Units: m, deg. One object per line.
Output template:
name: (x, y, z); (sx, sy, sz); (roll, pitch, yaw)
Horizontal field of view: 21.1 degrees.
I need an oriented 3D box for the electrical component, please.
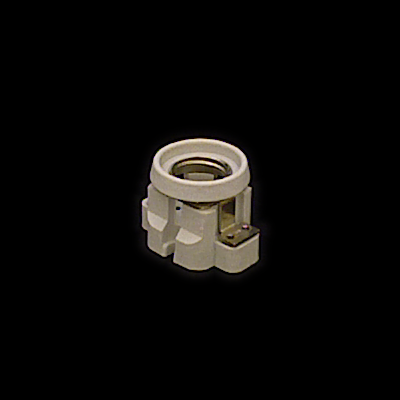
electrical component: (0.000, 0.000, 0.635); (0.078, 0.057, 0.057); (26, 39, 35)
